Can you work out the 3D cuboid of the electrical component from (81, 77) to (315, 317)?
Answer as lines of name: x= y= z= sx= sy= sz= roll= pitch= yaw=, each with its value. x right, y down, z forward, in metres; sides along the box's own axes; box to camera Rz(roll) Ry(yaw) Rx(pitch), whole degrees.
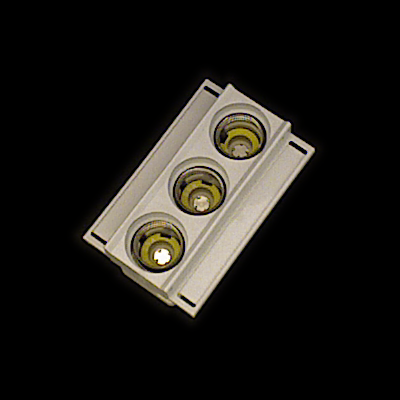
electrical component: x=0.000 y=0.000 z=0.637 sx=0.078 sy=0.122 sz=0.063 roll=35 pitch=-13 yaw=12
